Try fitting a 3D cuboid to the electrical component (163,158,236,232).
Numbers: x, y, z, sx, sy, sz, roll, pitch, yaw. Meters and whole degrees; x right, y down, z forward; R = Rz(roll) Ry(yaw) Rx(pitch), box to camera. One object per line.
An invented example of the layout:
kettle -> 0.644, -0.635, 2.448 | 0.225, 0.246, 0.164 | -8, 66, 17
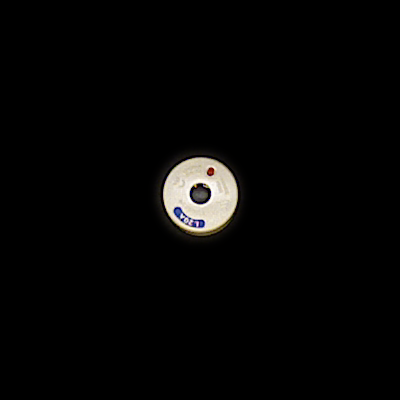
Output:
electrical component -> 0.000, 0.000, 0.618 | 0.040, 0.040, 0.078 | 0, -7, 0
